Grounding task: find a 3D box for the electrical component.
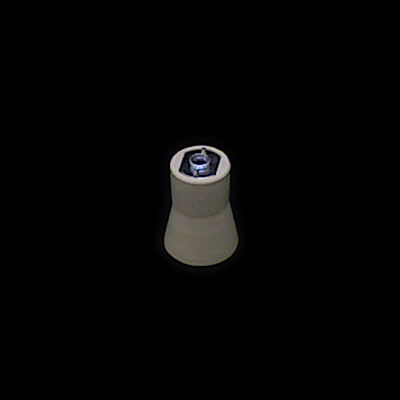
[{"bbox_3d":[0.000,0.000,0.630,0.044,0.066,0.044,0,42,1],"label":"electrical component"}]
